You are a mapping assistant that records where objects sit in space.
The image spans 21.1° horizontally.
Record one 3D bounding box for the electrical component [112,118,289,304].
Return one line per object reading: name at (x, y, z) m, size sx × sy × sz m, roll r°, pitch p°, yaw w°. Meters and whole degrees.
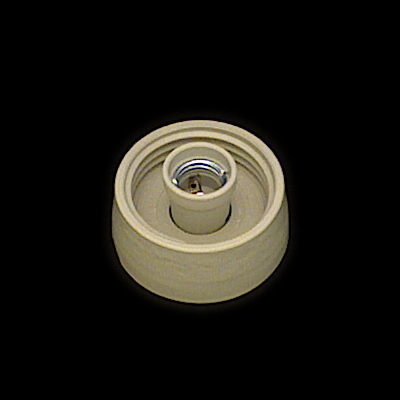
electrical component at (0.000, 0.000, 0.634) m, size 0.108 × 0.107 × 0.060 m, roll 0°, pitch -37°, yaw -1°
